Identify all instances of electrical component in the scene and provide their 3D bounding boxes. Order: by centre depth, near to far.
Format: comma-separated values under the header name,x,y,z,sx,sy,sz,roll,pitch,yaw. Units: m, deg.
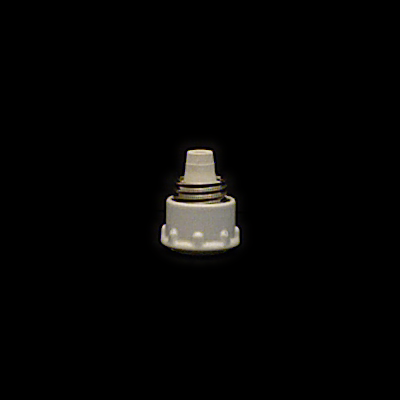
name,x,y,z,sx,sy,sz,roll,pitch,yaw
electrical component,0.000,0.000,0.649,0.048,0.062,0.048,0,12,1
